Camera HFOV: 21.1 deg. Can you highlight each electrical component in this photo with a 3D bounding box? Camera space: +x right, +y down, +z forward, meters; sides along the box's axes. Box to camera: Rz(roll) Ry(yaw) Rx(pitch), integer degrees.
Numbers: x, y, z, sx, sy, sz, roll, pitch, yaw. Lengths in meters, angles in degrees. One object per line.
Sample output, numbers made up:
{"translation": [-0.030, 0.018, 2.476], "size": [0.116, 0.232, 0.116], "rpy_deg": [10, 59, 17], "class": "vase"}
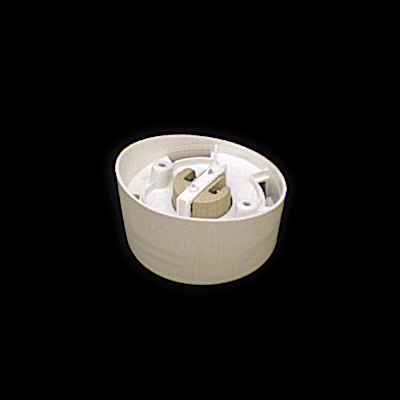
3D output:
{"translation": [0.000, 0.000, 0.628], "size": [0.099, 0.064, 0.098], "rpy_deg": [0, 43, 0], "class": "electrical component"}
